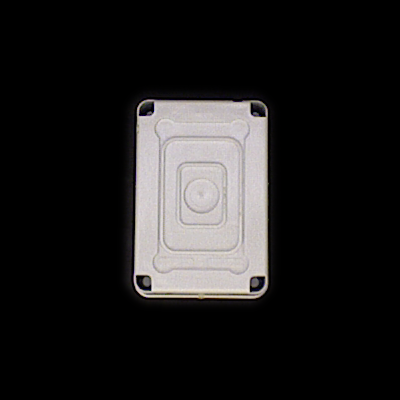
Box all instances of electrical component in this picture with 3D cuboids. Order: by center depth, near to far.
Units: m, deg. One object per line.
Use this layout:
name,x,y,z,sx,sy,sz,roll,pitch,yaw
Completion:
electrical component,0.000,0.000,0.628,0.078,0.113,0.057,1,-6,0
